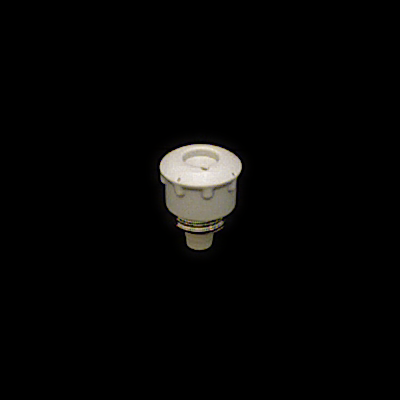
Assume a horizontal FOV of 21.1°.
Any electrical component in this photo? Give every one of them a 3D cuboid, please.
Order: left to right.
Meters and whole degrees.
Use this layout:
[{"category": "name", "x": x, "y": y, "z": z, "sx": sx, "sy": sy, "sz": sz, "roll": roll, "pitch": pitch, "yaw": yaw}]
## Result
[{"category": "electrical component", "x": 0.000, "y": 0.000, "z": 0.641, "sx": 0.048, "sy": 0.063, "sz": 0.047, "roll": 1, "pitch": 32, "yaw": 0}]
